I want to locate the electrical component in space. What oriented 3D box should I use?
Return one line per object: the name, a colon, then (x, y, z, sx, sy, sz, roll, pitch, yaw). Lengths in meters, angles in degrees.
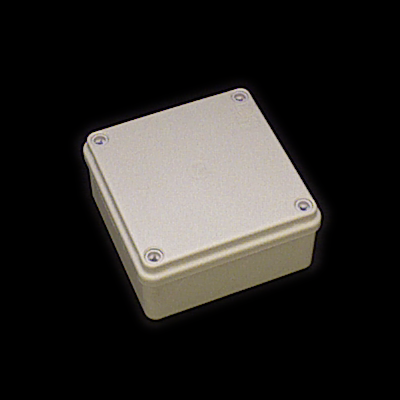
electrical component: (0.000, 0.000, 0.629, 0.109, 0.108, 0.056, -18, -35, -14)
